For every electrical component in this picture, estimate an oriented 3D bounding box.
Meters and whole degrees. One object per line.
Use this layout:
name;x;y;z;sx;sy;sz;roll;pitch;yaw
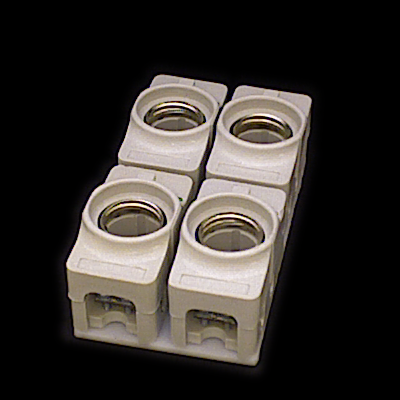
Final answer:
electrical component;0.000;0.000;0.630;0.105;0.061;0.185;9;42;9
